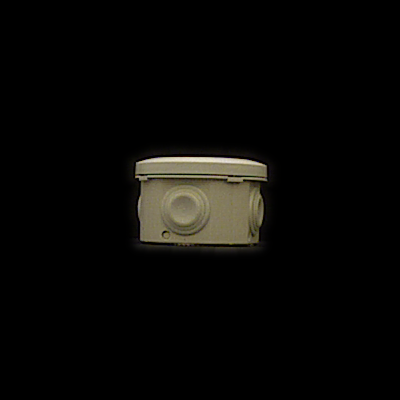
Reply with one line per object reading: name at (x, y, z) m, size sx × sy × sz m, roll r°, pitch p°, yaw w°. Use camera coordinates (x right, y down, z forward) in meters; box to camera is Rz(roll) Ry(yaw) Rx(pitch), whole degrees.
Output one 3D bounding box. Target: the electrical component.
electrical component at (0.000, 0.000, 0.652) m, size 0.080 × 0.051 × 0.080 m, roll 1°, pitch 0°, yaw 0°
